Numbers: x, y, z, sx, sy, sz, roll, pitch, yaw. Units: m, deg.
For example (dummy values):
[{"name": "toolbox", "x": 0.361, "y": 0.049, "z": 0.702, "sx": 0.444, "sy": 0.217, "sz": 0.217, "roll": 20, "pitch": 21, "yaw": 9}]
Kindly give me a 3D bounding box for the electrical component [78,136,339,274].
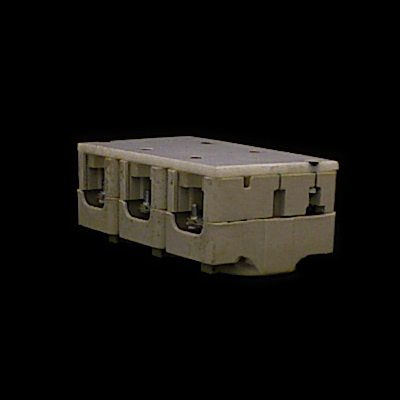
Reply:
[{"name": "electrical component", "x": 0.000, "y": 0.000, "z": 0.652, "sx": 0.090, "sy": 0.062, "sz": 0.148, "roll": -6, "pitch": 11, "yaw": -35}]
